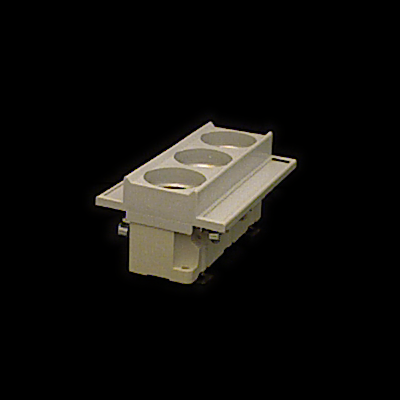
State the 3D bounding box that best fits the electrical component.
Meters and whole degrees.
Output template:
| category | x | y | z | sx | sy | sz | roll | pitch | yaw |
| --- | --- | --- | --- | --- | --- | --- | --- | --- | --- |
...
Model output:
| category | x | y | z | sx | sy | sz | roll | pitch | yaw |
| --- | --- | --- | --- | --- | --- | --- | --- | --- | --- |
| electrical component | 0.000 | 0.000 | 0.652 | 0.078 | 0.064 | 0.120 | 11 | 23 | 21 |
